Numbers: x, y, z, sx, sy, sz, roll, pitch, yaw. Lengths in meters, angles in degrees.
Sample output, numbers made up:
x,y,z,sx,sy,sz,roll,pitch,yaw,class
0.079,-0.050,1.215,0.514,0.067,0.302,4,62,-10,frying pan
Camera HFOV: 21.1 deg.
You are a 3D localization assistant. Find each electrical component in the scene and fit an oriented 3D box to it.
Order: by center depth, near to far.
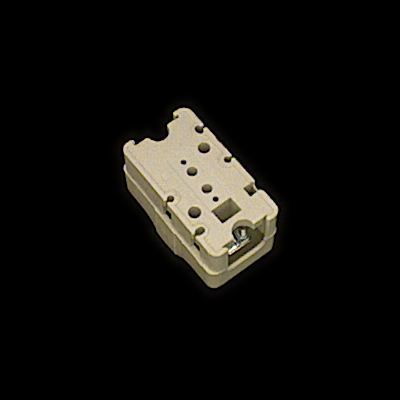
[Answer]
x,y,z,sx,sy,sz,roll,pitch,yaw,class
0.000,0.000,0.636,0.050,0.089,0.055,-35,-21,-16,electrical component
